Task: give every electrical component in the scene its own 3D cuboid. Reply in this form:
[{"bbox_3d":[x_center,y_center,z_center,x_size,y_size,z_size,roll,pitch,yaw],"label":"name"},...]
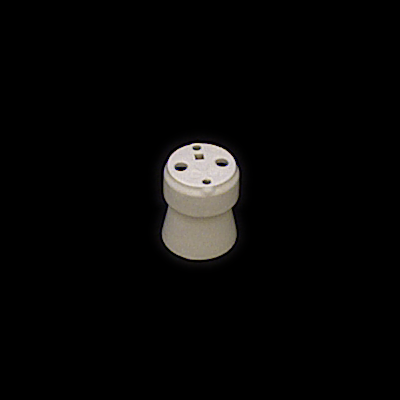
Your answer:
[{"bbox_3d":[0.000,0.000,0.633,0.045,0.055,0.044,1,42,-1],"label":"electrical component"}]
